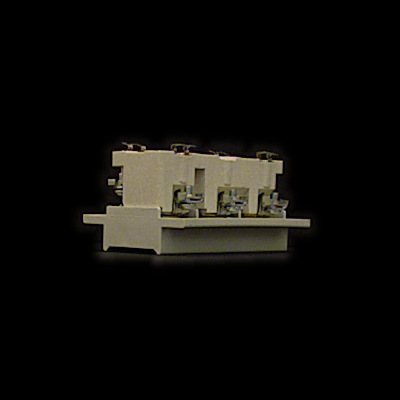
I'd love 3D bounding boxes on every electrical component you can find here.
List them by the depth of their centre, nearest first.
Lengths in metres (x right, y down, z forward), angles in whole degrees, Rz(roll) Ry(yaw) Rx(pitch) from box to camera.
[{"bbox_3d":[0.000,0.000,0.656,0.078,0.063,0.122,3,1,40],"label":"electrical component"}]
